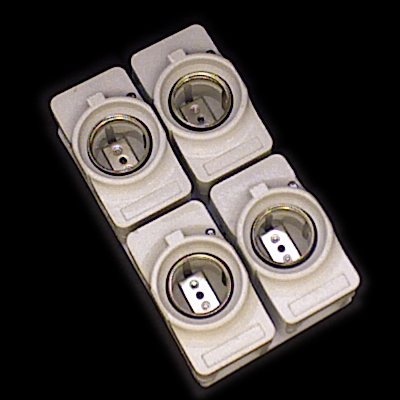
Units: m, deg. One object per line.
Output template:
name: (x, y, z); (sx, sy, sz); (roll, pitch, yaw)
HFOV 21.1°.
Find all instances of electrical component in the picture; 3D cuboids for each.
electrical component: (0.000, 0.000, 0.625); (0.106, 0.186, 0.060); (-28, -15, -8)
